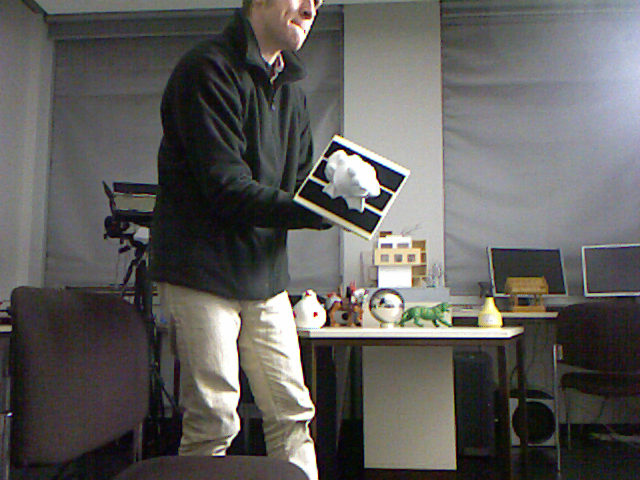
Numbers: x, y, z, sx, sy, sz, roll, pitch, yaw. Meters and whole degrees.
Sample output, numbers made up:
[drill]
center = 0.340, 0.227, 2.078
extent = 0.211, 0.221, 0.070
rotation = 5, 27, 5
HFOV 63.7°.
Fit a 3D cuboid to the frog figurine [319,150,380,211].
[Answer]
[frog figurine]
center = 0.069, -0.146, 1.131
extent = 0.124, 0.139, 0.157
rotation = -39, -15, -17
